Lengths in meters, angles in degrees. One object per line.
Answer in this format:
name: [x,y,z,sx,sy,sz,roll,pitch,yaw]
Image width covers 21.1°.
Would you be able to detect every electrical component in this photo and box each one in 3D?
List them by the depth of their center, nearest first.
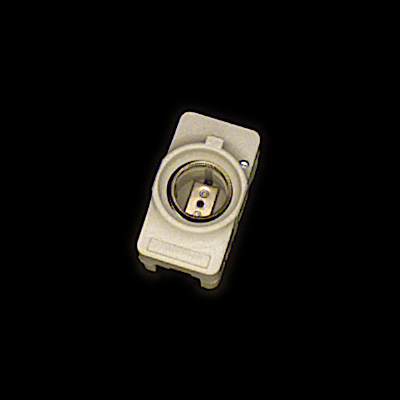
electrical component: [0.000,0.000,0.636,0.050,0.090,0.055,16,-15,5]
